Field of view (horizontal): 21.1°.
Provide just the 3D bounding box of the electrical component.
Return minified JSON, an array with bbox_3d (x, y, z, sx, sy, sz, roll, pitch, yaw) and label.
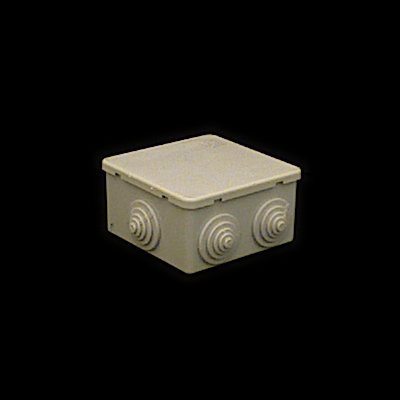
[{"bbox_3d":[0.000,0.000,0.649,0.100,0.049,0.098,-16,27,-36],"label":"electrical component"}]
